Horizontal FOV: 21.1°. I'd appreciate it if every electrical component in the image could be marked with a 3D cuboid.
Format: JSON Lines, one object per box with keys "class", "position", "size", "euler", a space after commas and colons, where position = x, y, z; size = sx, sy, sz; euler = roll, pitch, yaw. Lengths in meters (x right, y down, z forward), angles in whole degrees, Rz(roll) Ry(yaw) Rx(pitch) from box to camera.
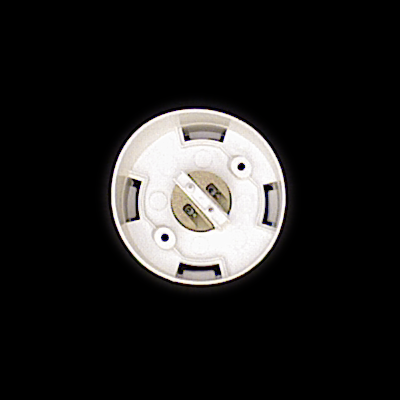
{"class": "electrical component", "position": [0.000, 0.000, 0.624], "size": [0.099, 0.099, 0.064], "euler": [0, -7, 1]}
